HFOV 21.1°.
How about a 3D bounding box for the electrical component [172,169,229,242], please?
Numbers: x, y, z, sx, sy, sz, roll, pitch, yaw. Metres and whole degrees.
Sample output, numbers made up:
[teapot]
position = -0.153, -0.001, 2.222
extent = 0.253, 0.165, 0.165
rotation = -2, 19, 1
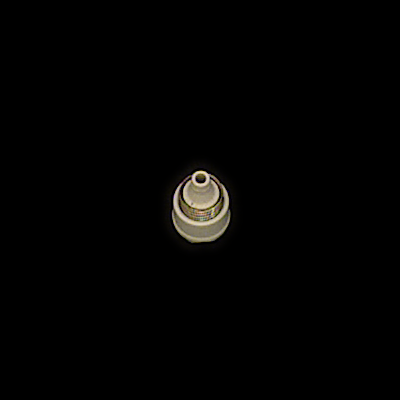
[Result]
[electrical component]
position = 0.000, 0.000, 0.638
extent = 0.035, 0.035, 0.061
rotation = 0, -25, 1
